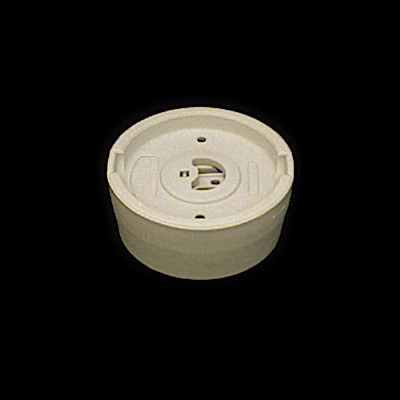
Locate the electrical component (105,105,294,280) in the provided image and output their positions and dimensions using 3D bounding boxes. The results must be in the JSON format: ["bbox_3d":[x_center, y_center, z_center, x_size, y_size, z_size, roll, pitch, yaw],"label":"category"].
[{"bbox_3d":[0.000,0.000,0.636,0.108,0.061,0.107,1,43,0],"label":"electrical component"}]
